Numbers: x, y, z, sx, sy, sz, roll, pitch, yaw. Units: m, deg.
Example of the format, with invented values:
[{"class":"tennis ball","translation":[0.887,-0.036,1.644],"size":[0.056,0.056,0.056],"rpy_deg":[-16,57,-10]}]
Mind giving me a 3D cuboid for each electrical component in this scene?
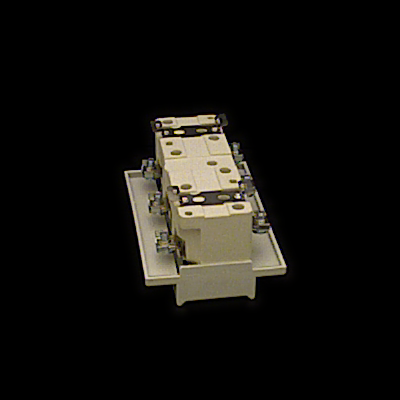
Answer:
[{"class":"electrical component","translation":[0.000,0.000,0.640],"size":[0.079,0.064,0.119],"rpy_deg":[-5,32,-8]}]
